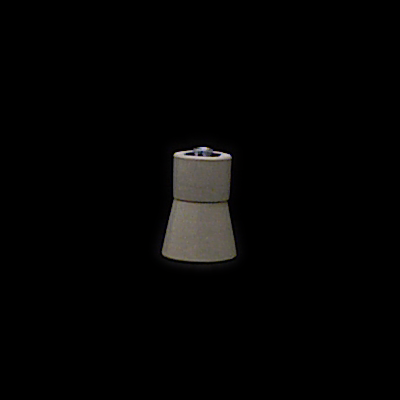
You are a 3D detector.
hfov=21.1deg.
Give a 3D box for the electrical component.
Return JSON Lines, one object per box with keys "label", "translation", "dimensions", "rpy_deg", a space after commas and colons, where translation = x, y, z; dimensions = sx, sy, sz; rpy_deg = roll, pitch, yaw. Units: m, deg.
{"label": "electrical component", "translation": [0.000, 0.000, 0.643], "dimensions": [0.044, 0.066, 0.044], "rpy_deg": [2, 11, 0]}
